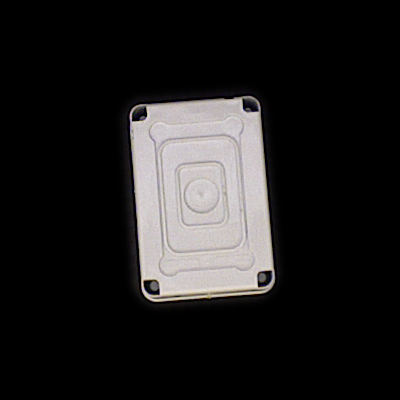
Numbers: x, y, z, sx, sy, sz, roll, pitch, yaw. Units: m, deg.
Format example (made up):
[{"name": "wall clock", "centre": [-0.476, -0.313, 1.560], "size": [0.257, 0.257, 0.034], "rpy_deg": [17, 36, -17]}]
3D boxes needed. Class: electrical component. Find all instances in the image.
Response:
[{"name": "electrical component", "centre": [0.000, 0.000, 0.628], "size": [0.078, 0.113, 0.057], "rpy_deg": [-4, -6, 0]}]
